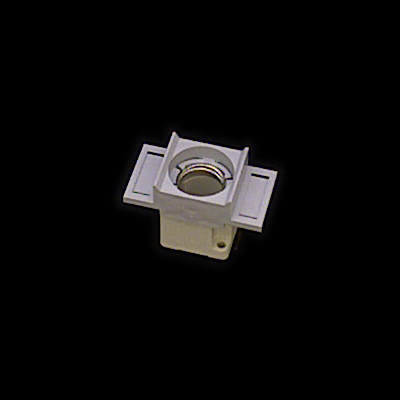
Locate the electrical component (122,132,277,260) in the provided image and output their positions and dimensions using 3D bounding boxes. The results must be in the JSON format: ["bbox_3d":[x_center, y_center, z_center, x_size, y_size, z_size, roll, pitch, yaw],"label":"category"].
[{"bbox_3d":[0.000,0.000,0.626,0.081,0.042,0.064,12,-36,9],"label":"electrical component"}]
